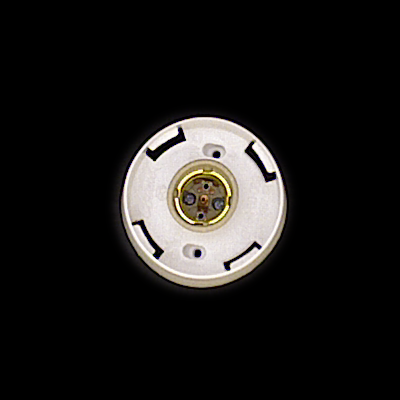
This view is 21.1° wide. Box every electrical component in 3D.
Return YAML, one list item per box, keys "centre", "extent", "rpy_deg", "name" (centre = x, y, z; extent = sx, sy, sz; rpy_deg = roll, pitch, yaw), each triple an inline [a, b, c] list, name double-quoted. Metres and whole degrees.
- centre: [0.000, 0.000, 0.625]
  extent: [0.099, 0.099, 0.064]
  rpy_deg: [0, -7, 1]
  name: "electrical component"
